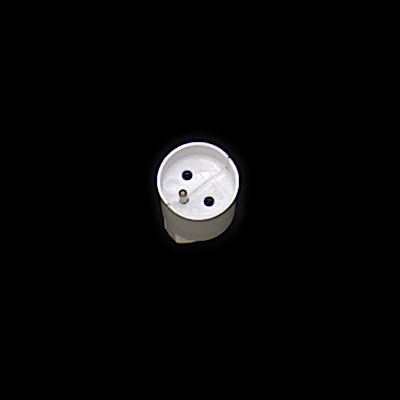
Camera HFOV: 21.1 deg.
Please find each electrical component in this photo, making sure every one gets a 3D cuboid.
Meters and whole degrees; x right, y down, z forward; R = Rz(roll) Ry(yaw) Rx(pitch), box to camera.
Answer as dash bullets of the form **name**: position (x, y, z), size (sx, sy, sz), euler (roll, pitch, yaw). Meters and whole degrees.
- **electrical component**: position (0.000, 0.000, 0.614), size (0.043, 0.043, 0.080), euler (0, -17, 1)
